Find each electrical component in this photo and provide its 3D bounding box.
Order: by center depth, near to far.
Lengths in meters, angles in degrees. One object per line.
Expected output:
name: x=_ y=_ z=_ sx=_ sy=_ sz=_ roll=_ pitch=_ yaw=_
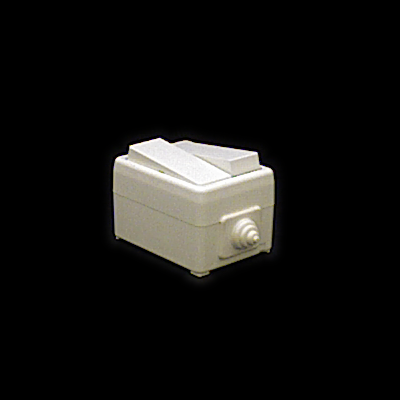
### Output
electrical component: x=0.000 y=0.000 z=0.637 sx=0.061 sy=0.061 sz=0.095 roll=-17 pitch=27 yaw=-39
